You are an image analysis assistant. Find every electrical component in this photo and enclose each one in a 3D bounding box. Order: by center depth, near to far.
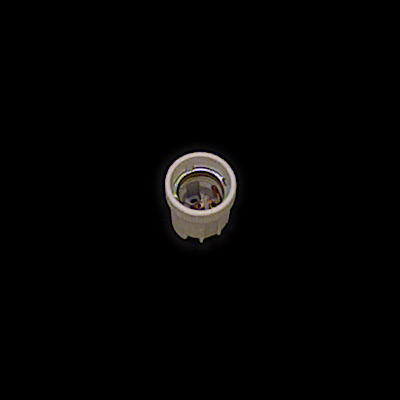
[{"bbox_3d":[0.000,0.000,0.627,0.040,0.040,0.046,0,-27,0],"label":"electrical component"}]
